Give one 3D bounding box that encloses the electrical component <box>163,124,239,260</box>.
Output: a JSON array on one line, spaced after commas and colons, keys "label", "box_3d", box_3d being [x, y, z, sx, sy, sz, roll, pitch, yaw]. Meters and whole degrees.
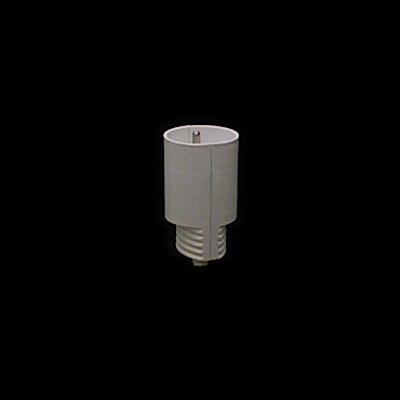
[{"label": "electrical component", "box_3d": [0.000, 0.000, 0.635, 0.043, 0.082, 0.042, 1, 20, 0]}]
